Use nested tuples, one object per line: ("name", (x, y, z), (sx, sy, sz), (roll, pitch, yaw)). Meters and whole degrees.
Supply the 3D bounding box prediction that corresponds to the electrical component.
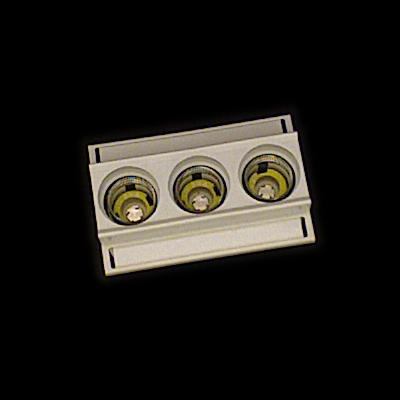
("electrical component", (0.000, 0.000, 0.637), (0.121, 0.079, 0.063), (-9, -18, -2))
